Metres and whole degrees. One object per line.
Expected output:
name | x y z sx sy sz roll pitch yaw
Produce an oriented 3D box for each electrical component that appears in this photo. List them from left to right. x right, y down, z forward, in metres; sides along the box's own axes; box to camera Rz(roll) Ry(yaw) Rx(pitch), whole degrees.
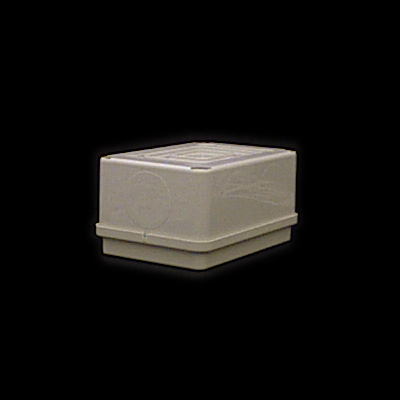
electrical component | 0.000 0.000 0.644 0.078 0.057 0.113 8 13 32
